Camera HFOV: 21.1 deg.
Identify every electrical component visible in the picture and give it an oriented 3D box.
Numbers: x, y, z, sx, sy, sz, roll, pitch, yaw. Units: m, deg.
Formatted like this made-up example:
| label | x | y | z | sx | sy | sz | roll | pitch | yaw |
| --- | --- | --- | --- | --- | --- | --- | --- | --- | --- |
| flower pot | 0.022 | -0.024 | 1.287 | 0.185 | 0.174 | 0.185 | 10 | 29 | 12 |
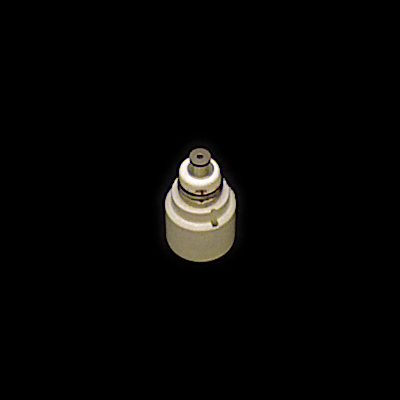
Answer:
| label | x | y | z | sx | sy | sz | roll | pitch | yaw |
| --- | --- | --- | --- | --- | --- | --- | --- | --- | --- |
| electrical component | 0.000 | 0.000 | 0.620 | 0.040 | 0.040 | 0.079 | 0 | -39 | 1 |
